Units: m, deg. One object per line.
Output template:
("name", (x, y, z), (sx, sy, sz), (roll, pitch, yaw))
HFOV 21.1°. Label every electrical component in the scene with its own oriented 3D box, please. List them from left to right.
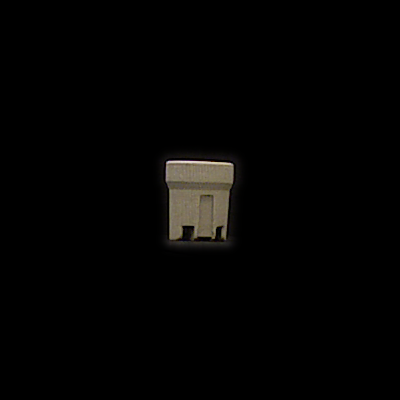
("electrical component", (0.000, 0.000, 0.647), (0.040, 0.046, 0.040), (1, 1, 0))
